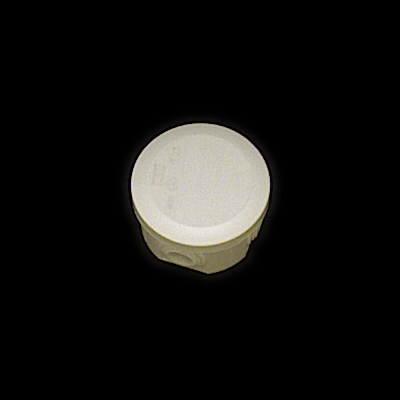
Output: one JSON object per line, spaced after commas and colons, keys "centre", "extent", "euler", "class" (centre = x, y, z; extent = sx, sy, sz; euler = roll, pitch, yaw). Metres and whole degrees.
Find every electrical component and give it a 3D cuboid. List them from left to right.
{"centre": [0.000, 0.000, 0.631], "extent": [0.080, 0.080, 0.050], "euler": [0, -28, 0], "class": "electrical component"}
